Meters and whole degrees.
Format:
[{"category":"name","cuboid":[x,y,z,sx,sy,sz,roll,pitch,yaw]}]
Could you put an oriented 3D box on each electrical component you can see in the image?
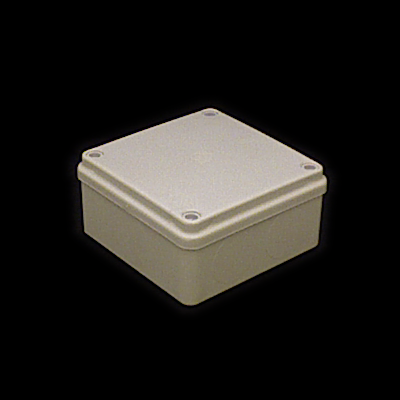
[{"category":"electrical component","cuboid":[0.000,0.000,0.637,0.108,0.057,0.107,-23,39,-34]}]
